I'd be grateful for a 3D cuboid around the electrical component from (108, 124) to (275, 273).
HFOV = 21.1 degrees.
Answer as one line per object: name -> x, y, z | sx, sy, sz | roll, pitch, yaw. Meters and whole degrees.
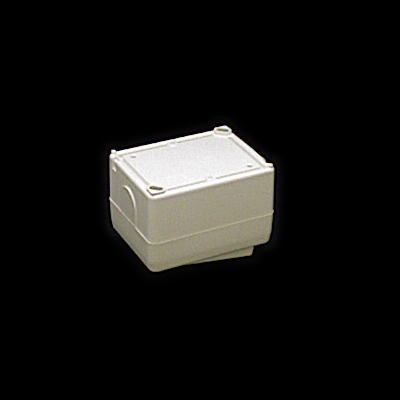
electrical component -> 0.000, 0.000, 0.639 | 0.096, 0.062, 0.061 | -14, 34, -23
